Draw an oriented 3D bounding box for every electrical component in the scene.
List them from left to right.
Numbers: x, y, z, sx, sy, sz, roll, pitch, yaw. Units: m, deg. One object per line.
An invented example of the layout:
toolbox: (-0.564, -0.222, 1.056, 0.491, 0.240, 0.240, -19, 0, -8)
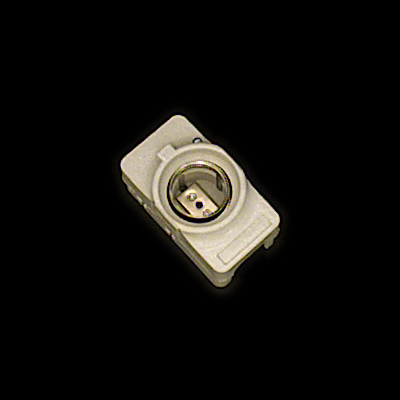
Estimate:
electrical component: (0.000, 0.000, 0.636, 0.050, 0.089, 0.055, -42, -12, -11)
